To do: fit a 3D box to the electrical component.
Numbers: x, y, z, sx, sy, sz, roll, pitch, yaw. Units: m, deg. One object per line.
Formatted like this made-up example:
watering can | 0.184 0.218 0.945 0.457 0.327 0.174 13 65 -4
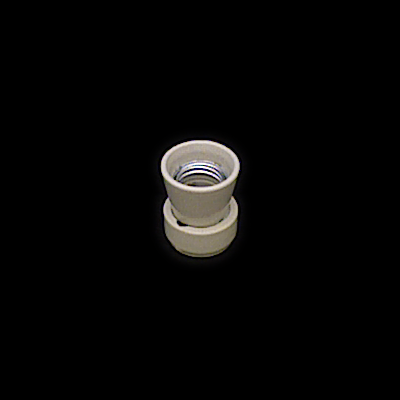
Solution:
electrical component | 0.000 0.000 0.631 0.045 0.055 0.044 0 41 0
